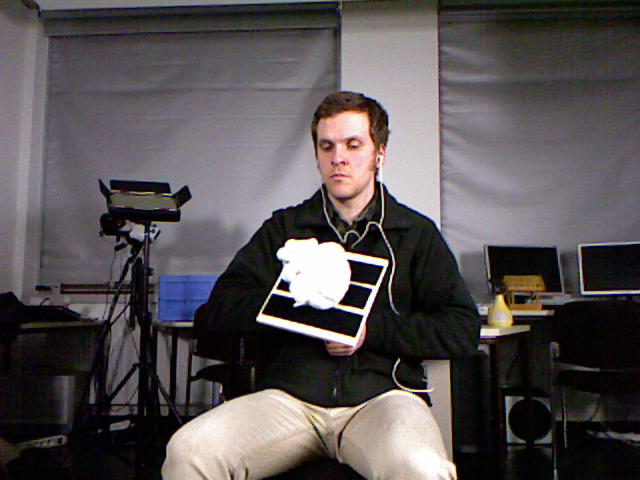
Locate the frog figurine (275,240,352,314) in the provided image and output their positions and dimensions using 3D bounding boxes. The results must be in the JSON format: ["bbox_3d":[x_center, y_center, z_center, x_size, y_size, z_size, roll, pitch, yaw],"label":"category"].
[{"bbox_3d":[-0.009,0.055,0.948,0.139,0.156,0.125,-37,54,-16],"label":"frog figurine"}]
